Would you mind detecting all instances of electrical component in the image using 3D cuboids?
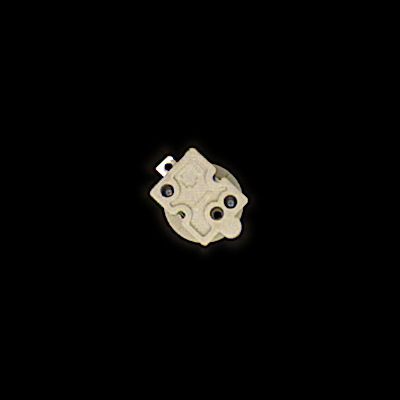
[{"bbox_3d":[0.000,0.000,0.639,0.066,0.048,0.055,44,-2,5],"label":"electrical component"}]
